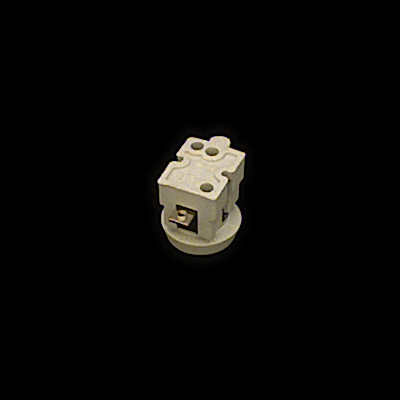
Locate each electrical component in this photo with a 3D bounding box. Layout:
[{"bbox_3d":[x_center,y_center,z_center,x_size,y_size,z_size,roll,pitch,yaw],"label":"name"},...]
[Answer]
[{"bbox_3d":[0.000,0.000,0.641,0.048,0.056,0.066,19,46,17],"label":"electrical component"}]
